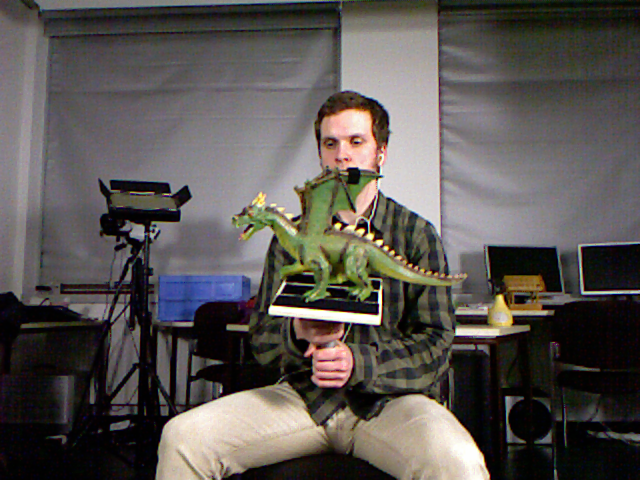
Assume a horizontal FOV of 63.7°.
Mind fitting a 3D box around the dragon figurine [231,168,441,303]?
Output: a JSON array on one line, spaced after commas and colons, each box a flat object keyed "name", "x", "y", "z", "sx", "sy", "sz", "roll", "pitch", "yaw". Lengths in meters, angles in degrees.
[{"name": "dragon figurine", "x": 0.039, "y": -0.015, "z": 0.977, "sx": 0.411, "sy": 0.239, "sz": 0.124, "roll": -2, "pitch": 22, "yaw": -9}]
